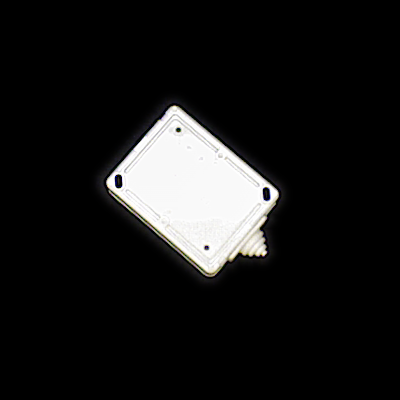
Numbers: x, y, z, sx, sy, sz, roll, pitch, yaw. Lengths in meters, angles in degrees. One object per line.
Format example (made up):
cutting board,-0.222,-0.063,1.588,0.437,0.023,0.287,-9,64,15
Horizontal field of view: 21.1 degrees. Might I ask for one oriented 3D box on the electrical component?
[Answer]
electrical component,0.000,0.001,0.626,0.096,0.062,0.061,40,-5,5
